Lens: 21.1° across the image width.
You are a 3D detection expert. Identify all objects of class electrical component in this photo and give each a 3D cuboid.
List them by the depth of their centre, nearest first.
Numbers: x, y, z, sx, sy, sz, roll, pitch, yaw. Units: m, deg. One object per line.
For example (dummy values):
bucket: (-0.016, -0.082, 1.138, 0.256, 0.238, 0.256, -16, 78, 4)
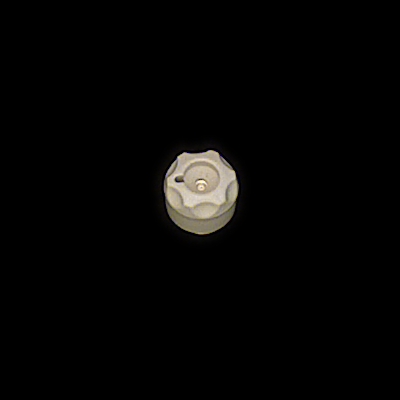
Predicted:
electrical component: (0.000, 0.000, 0.634, 0.043, 0.043, 0.062, 0, -27, 0)
